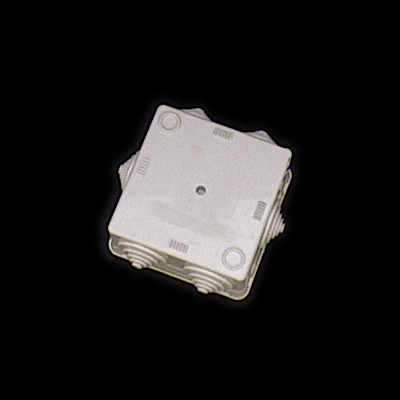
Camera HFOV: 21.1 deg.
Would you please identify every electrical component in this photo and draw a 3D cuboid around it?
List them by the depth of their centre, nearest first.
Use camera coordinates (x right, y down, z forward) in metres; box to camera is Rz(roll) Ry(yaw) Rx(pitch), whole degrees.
[{"bbox_3d":[0.000,0.000,0.631,0.100,0.100,0.048,20,-15,6],"label":"electrical component"}]
